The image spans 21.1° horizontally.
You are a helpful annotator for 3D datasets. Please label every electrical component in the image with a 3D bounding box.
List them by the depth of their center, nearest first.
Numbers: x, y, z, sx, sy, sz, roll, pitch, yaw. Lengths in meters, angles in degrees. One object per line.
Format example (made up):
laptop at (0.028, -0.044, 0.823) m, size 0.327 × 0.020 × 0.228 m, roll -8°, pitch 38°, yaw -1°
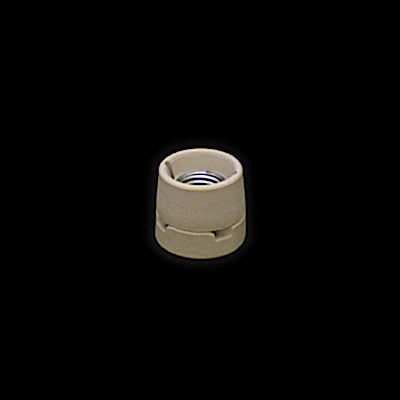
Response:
electrical component at (0.000, 0.000, 0.638) m, size 0.055 × 0.047 × 0.055 m, roll 0°, pitch 31°, yaw 0°
